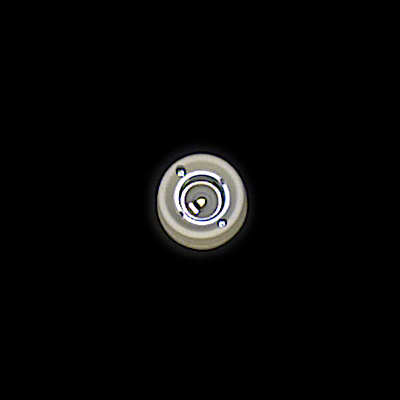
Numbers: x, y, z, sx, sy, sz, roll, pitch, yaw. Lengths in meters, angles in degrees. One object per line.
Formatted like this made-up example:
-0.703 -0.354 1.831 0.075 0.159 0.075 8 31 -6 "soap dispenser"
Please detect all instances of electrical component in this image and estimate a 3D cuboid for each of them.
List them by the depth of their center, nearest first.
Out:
0.000 0.000 0.634 0.055 0.055 0.047 0 -8 1 "electrical component"
